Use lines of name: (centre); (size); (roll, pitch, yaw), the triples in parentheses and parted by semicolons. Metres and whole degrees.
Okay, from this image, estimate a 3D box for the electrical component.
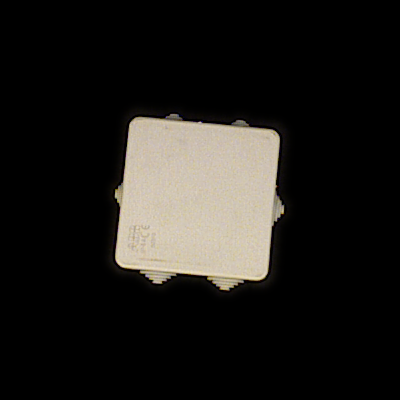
electrical component: (0.000, 0.000, 0.642); (0.100, 0.100, 0.048); (6, -6, 0)
